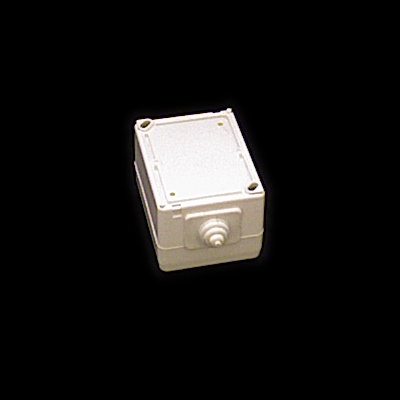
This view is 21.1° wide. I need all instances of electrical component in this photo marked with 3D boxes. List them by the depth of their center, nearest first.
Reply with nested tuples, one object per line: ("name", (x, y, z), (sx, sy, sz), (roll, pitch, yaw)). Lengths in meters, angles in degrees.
("electrical component", (0.000, 0.000, 0.630), (0.062, 0.061, 0.095), (-8, 44, -10))
